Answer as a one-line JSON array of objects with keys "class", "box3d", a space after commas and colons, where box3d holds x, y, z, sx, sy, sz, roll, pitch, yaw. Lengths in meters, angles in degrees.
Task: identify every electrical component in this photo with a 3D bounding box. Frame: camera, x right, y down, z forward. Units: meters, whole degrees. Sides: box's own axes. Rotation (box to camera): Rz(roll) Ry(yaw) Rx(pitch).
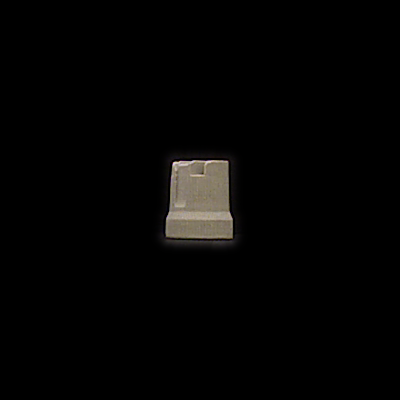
[{"class": "electrical component", "box3d": [0.000, 0.000, 0.649, 0.040, 0.046, 0.040, 1, 1, 0]}]
